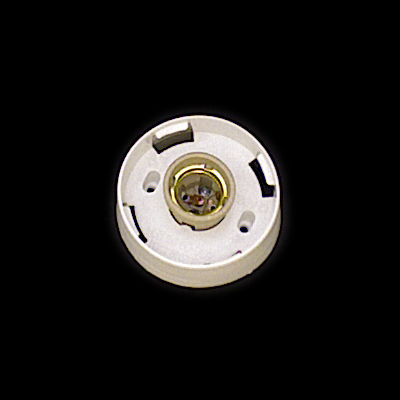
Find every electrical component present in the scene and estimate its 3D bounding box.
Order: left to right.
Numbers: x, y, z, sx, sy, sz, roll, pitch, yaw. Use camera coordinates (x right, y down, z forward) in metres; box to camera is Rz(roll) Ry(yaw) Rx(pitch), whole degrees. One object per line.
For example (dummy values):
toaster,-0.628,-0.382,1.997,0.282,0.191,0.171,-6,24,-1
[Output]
electrical component,0.000,0.000,0.624,0.099,0.099,0.064,0,-17,0
